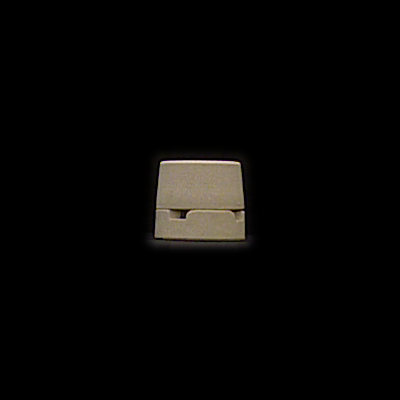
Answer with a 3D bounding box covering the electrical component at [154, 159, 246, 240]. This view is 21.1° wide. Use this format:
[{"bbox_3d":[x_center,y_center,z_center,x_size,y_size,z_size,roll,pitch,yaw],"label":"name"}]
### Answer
[{"bbox_3d":[0.000,0.000,0.650,0.055,0.047,0.055,0,1,0],"label":"electrical component"}]
